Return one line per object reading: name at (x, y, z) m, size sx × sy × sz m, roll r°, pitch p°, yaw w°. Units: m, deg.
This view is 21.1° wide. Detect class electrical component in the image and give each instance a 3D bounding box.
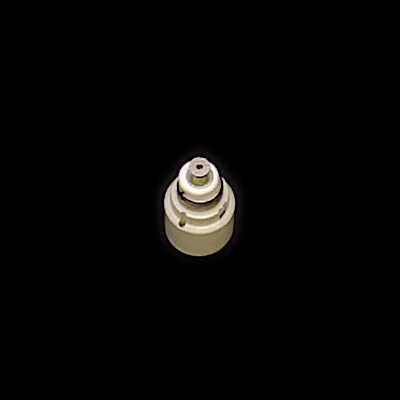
electrical component at (0.000, 0.000, 0.618) m, size 0.040 × 0.040 × 0.078 m, roll 0°, pitch -28°, yaw 0°
